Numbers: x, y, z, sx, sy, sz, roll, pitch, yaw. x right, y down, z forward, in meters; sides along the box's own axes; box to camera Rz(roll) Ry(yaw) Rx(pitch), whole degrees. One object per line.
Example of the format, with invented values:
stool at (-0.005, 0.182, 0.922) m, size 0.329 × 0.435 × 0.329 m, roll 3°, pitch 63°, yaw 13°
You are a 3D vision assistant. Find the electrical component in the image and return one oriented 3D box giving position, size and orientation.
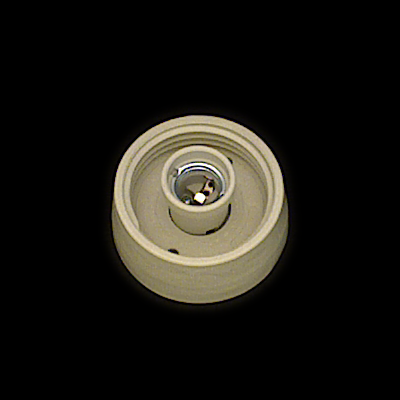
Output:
electrical component at (0.000, 0.000, 0.633) m, size 0.108 × 0.108 × 0.060 m, roll 0°, pitch -26°, yaw 0°
